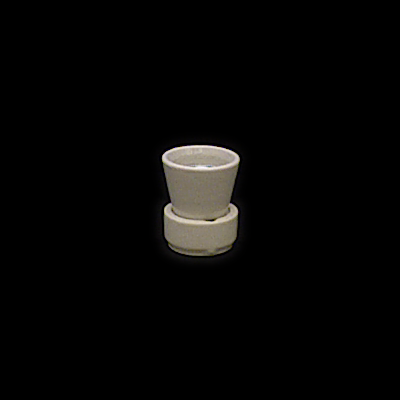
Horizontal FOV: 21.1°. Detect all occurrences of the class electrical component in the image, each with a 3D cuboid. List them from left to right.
[{"bbox_3d":[0.000,0.000,0.637,0.045,0.056,0.044,0,21,0],"label":"electrical component"}]
